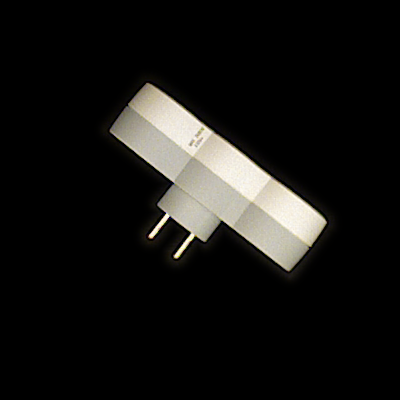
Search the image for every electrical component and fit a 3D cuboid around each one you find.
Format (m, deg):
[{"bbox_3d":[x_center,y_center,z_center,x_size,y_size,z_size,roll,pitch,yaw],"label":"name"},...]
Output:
[{"bbox_3d":[0.000,0.000,0.639,0.138,0.074,0.052,38,-3,3],"label":"electrical component"}]
